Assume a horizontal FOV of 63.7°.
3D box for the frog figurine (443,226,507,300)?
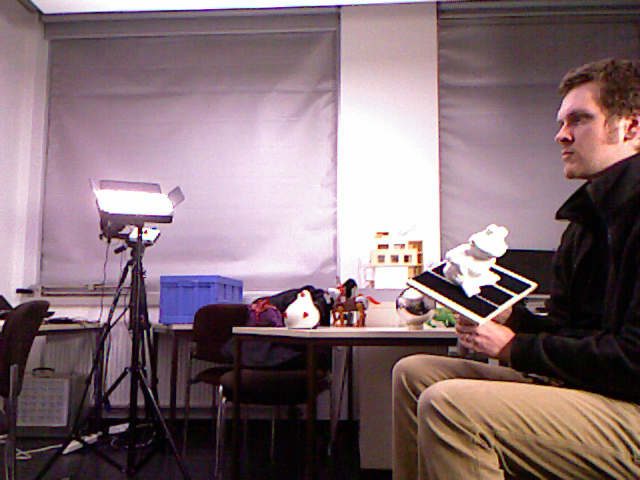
[{"bbox_3d":[0.343,0.033,1.143,0.138,0.156,0.125,-11,32,-13],"label":"frog figurine"}]
